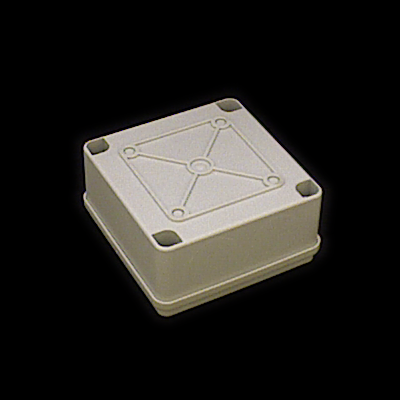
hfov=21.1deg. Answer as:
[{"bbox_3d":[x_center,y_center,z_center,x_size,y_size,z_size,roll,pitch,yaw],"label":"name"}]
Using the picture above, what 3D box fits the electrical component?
[{"bbox_3d":[0.000,0.000,0.632,0.108,0.057,0.107,-19,46,-22],"label":"electrical component"}]
